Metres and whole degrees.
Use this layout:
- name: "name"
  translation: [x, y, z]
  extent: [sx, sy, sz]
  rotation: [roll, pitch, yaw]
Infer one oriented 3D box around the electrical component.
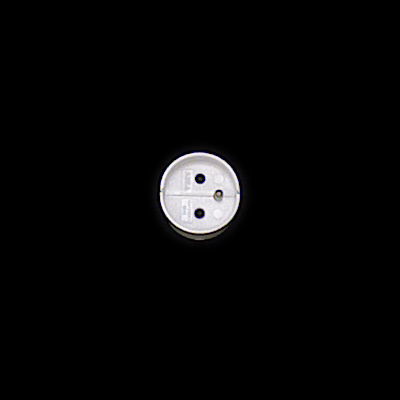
- name: "electrical component"
  translation: [0.000, 0.000, 0.616]
  extent: [0.043, 0.043, 0.080]
  rotation: [0, -6, -1]
